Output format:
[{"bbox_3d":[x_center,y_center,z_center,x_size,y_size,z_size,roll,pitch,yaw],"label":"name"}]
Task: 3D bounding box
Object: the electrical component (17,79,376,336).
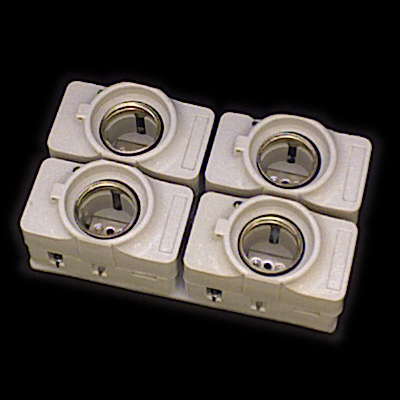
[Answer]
[{"bbox_3d":[0.000,0.000,0.625,0.186,0.106,0.060,12,-27,6],"label":"electrical component"}]
